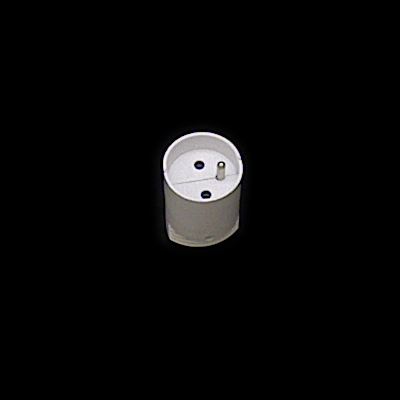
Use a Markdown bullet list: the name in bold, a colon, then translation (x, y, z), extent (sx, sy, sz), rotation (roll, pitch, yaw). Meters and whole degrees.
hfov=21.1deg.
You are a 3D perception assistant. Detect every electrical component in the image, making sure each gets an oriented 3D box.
- **electrical component**: translation (0.000, 0.000, 0.618), extent (0.043, 0.043, 0.081), rotation (0, -27, -1)
